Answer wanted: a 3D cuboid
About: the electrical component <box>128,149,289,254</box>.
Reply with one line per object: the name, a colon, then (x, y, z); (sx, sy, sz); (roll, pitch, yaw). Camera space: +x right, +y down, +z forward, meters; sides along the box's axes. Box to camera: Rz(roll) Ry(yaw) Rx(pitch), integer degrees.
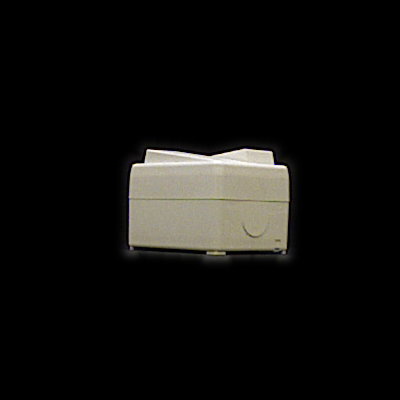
electrical component: (0.000, 0.000, 0.652); (0.062, 0.061, 0.096); (1, 0, -43)
